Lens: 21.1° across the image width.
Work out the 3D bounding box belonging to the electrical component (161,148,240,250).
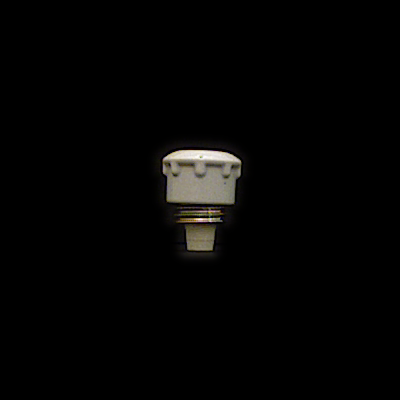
[{"bbox_3d":[0.000,0.000,0.659,0.048,0.062,0.048,2,2,1],"label":"electrical component"}]
